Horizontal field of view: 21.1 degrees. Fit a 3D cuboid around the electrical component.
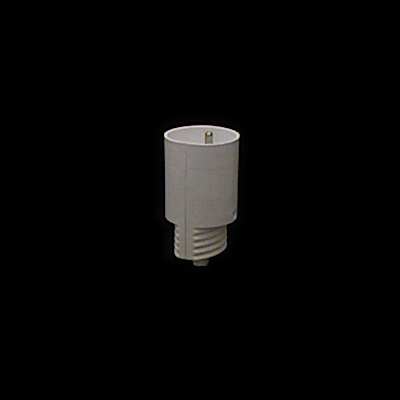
[{"bbox_3d":[0.000,0.000,0.637,0.043,0.082,0.042,2,21,0],"label":"electrical component"}]
